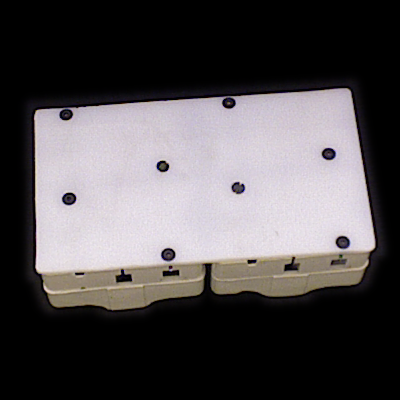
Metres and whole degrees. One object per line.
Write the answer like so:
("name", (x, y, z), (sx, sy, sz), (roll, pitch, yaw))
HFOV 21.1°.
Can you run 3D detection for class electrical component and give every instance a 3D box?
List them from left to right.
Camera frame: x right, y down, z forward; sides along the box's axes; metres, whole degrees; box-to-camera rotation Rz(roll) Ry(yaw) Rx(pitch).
("electrical component", (0.000, 0.000, 0.626), (0.186, 0.105, 0.060), (-4, -27, -2))
